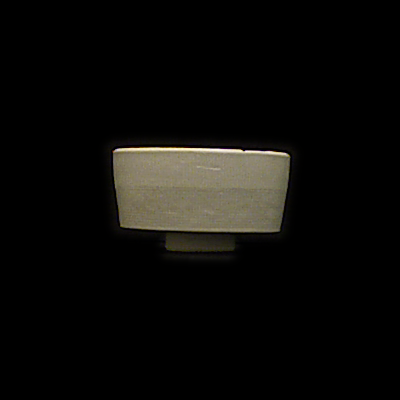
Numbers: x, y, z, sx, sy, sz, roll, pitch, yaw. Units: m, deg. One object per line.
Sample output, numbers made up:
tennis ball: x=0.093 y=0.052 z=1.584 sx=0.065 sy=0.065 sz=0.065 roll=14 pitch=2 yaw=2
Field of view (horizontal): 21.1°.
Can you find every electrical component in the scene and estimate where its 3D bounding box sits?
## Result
electrical component: x=0.000 y=0.000 z=0.657 sx=0.108 sy=0.060 sz=0.108 roll=2 pitch=1 yaw=1
